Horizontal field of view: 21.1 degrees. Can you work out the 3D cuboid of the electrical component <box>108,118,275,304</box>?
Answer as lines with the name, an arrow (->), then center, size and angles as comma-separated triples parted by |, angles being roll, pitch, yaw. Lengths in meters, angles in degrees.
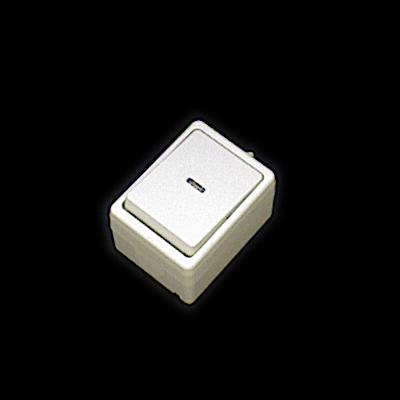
electrical component -> 0.000, 0.000, 0.627 | 0.062, 0.096, 0.061 | 36, -22, 17
